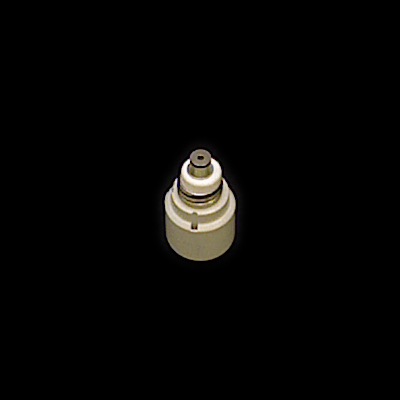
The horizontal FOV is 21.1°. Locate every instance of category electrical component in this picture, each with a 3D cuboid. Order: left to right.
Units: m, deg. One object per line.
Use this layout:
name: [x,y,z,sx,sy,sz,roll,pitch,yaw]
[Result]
electrical component: [0.000,0.000,0.622,0.040,0.040,0.079,0,-37,-1]
